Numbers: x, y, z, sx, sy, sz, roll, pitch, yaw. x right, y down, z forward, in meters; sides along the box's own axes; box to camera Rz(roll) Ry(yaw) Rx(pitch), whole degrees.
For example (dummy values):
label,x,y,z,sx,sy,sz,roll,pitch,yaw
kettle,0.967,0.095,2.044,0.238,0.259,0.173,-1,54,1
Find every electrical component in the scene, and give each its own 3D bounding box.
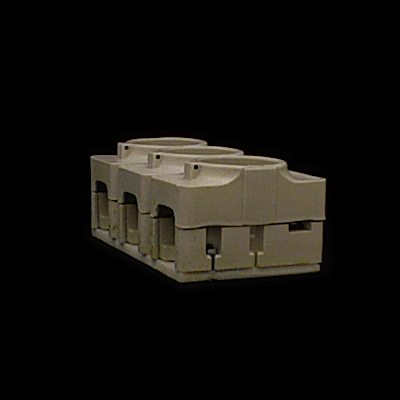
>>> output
label,x,y,z,sx,sy,sz,roll,pitch,yaw
electrical component,0.000,0.000,0.649,0.089,0.062,0.148,-4,10,-25
